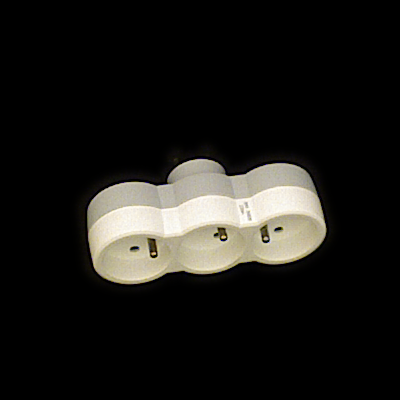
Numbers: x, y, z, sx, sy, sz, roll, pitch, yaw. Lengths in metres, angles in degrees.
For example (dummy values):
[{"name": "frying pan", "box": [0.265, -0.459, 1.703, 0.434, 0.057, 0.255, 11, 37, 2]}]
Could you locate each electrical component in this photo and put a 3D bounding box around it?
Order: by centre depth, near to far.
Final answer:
[{"name": "electrical component", "box": [0.000, 0.000, 0.641, 0.138, 0.073, 0.052, -7, -38, -6]}]
